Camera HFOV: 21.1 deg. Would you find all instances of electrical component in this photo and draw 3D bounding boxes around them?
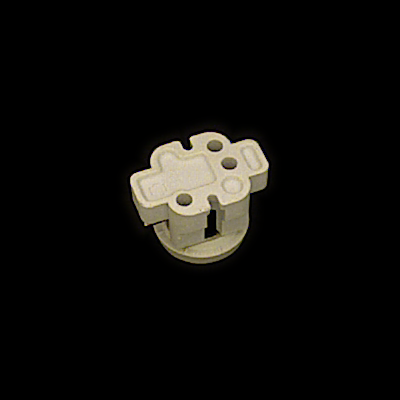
[{"bbox_3d":[0.000,0.000,0.636,0.079,0.057,0.057,-19,-34,-12],"label":"electrical component"}]
